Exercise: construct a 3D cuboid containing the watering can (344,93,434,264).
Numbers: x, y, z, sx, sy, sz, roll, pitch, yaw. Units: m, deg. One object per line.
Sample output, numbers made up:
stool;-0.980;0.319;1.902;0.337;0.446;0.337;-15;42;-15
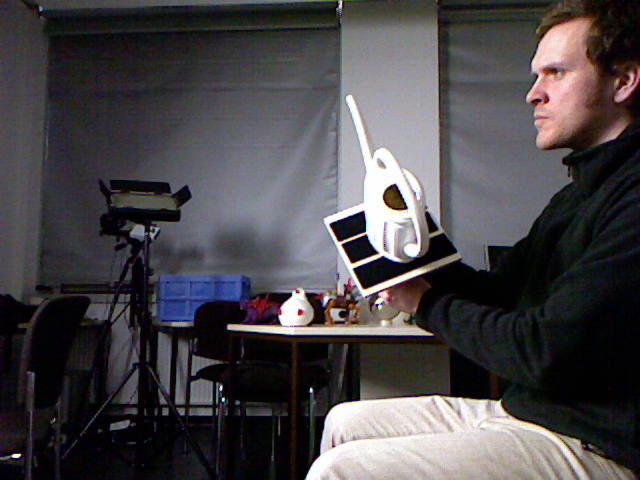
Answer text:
watering can;0.121;-0.098;0.971;0.105;0.356;0.220;-17;-31;-9
